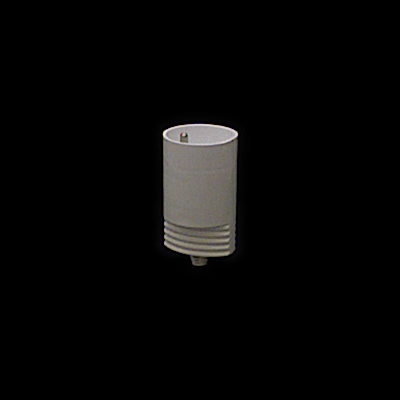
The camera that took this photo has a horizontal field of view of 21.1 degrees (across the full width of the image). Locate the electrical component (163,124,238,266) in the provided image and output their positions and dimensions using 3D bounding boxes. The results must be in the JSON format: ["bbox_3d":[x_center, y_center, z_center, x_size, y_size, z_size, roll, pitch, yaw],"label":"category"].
[{"bbox_3d":[0.000,0.000,0.633,0.043,0.082,0.042,1,20,0],"label":"electrical component"}]
